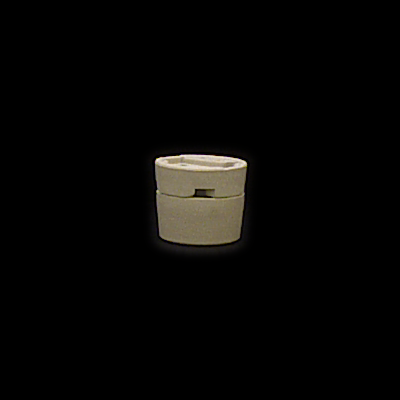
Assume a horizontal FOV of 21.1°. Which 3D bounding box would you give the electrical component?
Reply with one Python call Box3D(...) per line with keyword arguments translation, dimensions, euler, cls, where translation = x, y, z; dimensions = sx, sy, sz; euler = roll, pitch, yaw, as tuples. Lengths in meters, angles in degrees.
Box3D(translation=(0.000, 0.000, 0.646), dimensions=(0.055, 0.047, 0.055), euler=(1, 11, 0), cls="electrical component")
